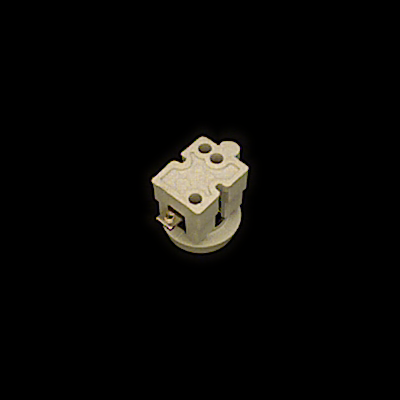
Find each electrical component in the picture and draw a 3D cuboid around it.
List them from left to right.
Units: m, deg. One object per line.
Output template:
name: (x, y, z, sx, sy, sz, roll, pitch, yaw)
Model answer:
electrical component: (0.000, 0.000, 0.639, 0.048, 0.067, 0.056, 36, -28, 23)
